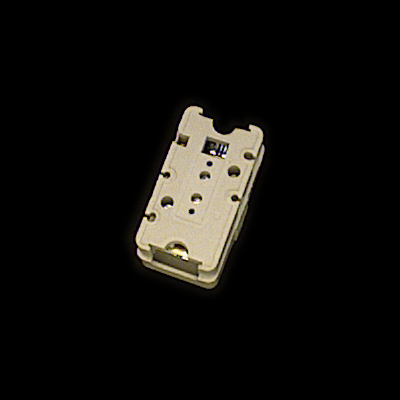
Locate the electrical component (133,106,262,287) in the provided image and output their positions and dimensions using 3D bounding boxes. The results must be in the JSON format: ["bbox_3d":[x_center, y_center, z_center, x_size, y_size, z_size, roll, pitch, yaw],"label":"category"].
[{"bbox_3d":[0.000,0.000,0.636,0.050,0.090,0.055,19,-16,7],"label":"electrical component"}]
